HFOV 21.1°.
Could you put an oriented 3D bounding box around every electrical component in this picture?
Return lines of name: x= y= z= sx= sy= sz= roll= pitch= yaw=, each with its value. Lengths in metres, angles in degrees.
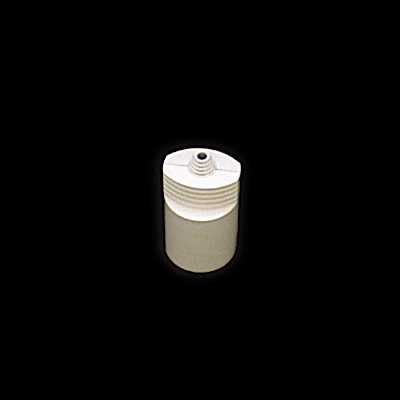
electrical component: x=0.000 y=0.000 z=0.619 sx=0.043 sy=0.043 sz=0.081 roll=0 pitch=-38 yaw=0
